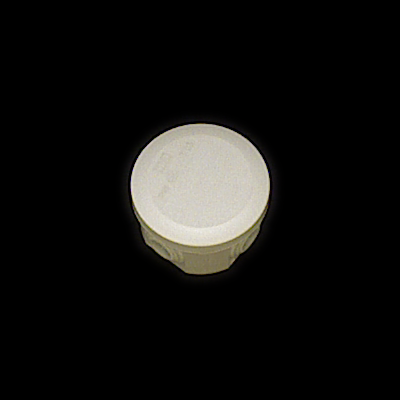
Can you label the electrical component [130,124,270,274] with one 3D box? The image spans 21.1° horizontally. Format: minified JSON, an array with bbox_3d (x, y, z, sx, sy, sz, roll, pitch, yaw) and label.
[{"bbox_3d":[0.000,0.000,0.631,0.080,0.080,0.050,0,-27,-1],"label":"electrical component"}]
